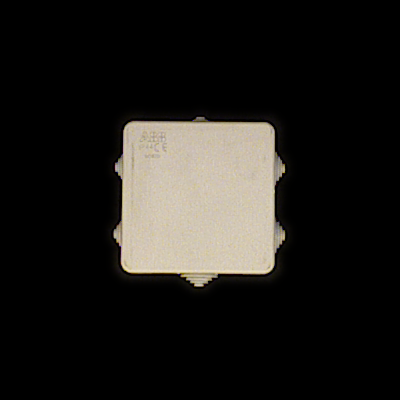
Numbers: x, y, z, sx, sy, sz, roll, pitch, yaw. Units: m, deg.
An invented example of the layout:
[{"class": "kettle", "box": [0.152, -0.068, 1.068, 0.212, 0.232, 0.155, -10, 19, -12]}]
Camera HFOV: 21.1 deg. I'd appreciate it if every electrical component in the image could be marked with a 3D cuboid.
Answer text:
[{"class": "electrical component", "box": [0.000, 0.000, 0.642, 0.100, 0.100, 0.048, 1, -6, 0]}]
